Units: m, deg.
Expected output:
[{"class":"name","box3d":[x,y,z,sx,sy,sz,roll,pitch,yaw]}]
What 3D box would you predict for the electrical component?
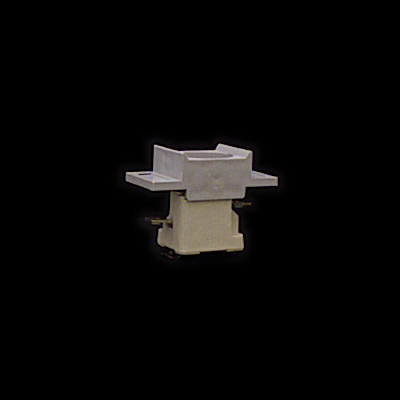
[{"class":"electrical component","box3d":[0.000,0.000,0.642,0.081,0.064,0.041,-3,13,-25]}]
